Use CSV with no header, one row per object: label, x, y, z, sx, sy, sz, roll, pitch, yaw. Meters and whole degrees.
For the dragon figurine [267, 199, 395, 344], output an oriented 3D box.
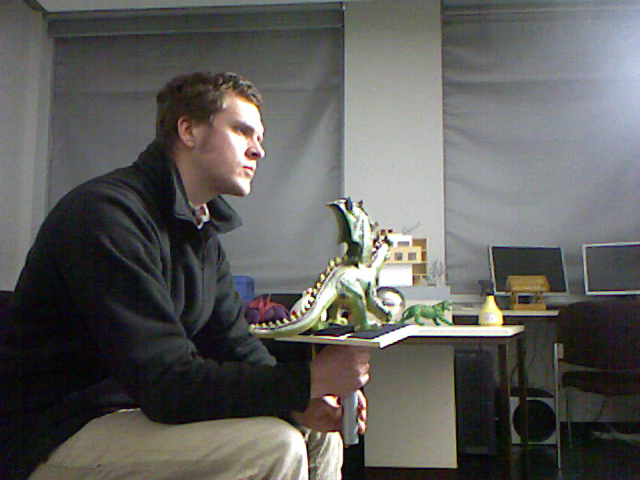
dragon figurine,0.044,0.046,0.943,0.122,0.243,0.410,1,-1,31
